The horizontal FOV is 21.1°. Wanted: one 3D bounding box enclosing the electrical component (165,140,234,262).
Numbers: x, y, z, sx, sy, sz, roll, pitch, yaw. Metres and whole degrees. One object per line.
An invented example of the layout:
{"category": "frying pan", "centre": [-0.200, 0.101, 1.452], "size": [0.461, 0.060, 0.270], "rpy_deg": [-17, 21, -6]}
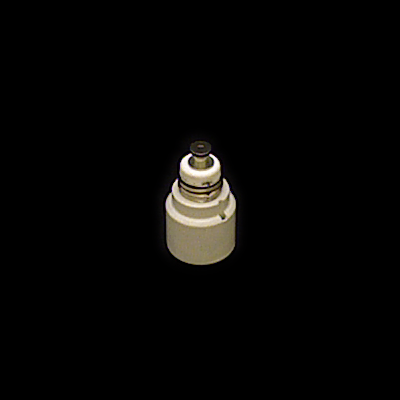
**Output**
{"category": "electrical component", "centre": [0.000, 0.000, 0.623], "size": [0.040, 0.079, 0.039], "rpy_deg": [0, 41, 0]}
